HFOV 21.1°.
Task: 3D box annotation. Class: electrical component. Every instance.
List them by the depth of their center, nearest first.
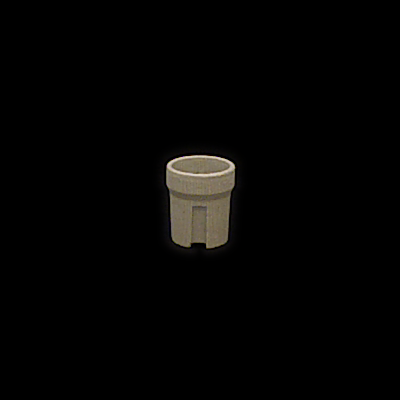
[{"bbox_3d":[0.000,0.000,0.642,0.040,0.047,0.039,1,21,0],"label":"electrical component"}]
